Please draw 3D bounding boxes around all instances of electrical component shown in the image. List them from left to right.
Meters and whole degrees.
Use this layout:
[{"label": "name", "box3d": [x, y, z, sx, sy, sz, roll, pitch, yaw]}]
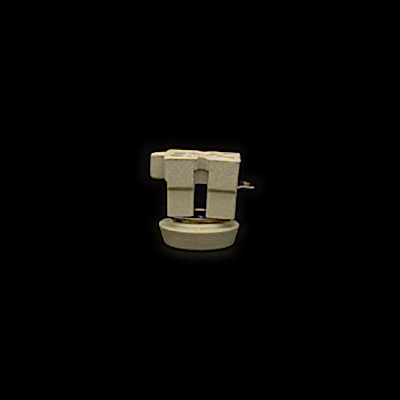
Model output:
[{"label": "electrical component", "box3d": [0.000, 0.000, 0.650, 0.066, 0.056, 0.048, 2, 11, 0]}]
